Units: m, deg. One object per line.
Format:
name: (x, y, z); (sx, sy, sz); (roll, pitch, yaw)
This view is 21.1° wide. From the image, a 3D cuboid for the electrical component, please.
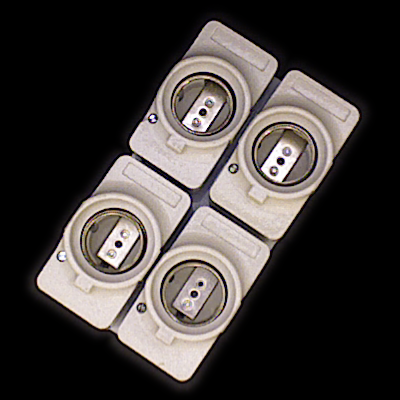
electrical component: (0.000, 0.000, 0.626); (0.105, 0.187, 0.060); (33, -6, 3)
